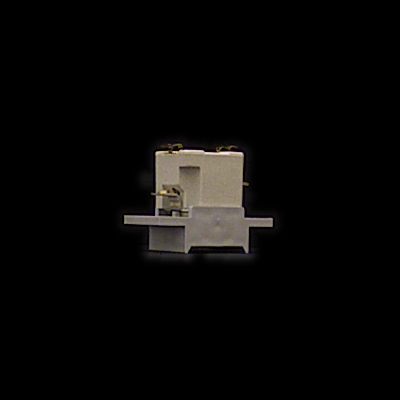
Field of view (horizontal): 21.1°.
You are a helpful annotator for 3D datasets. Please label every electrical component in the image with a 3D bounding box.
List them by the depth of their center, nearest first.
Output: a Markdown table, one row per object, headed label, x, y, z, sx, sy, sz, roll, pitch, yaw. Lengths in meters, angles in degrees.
| label | x | y | z | sx | sy | sz | roll | pitch | yaw |
| --- | --- | --- | --- | --- | --- | --- | --- | --- | --- |
| electrical component | 0.000 | 0.000 | 0.649 | 0.081 | 0.064 | 0.042 | 1 | 1 | -34 |
